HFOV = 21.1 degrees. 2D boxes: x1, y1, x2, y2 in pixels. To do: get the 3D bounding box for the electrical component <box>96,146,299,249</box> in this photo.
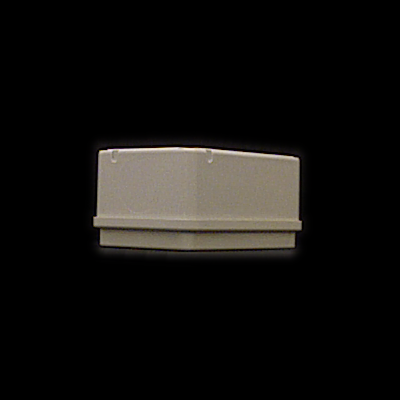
[{"bbox_3d":[0.000,0.000,0.650,0.078,0.057,0.114,1,0,40],"label":"electrical component"}]
